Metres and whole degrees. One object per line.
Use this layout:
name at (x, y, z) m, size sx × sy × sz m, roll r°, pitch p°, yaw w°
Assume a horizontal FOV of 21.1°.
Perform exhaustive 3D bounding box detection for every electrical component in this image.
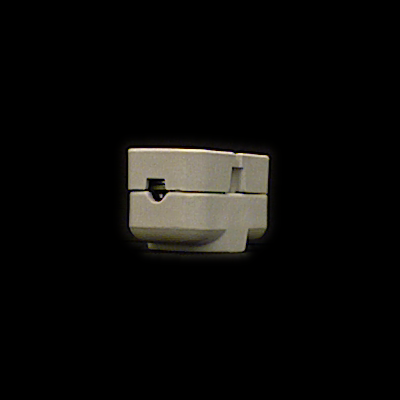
electrical component at (0.000, 0.000, 0.657) m, size 0.053 × 0.059 × 0.096 m, roll 2°, pitch 1°, yaw 32°
